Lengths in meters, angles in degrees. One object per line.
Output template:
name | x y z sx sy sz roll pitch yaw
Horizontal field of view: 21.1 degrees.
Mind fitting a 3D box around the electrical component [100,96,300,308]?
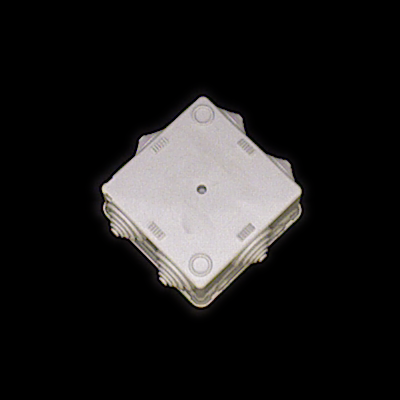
electrical component | 0.000 0.000 0.631 0.100 0.100 0.048 -43 -12 -11
